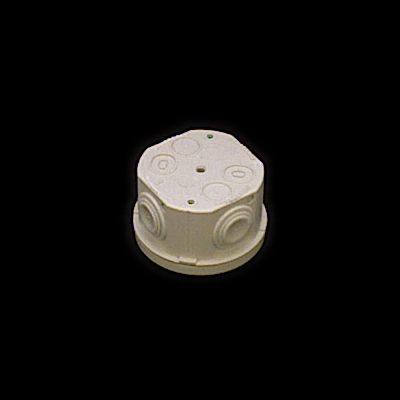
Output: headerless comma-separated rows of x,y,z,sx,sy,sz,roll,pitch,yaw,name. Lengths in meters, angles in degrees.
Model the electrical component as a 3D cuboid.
0.000,0.000,0.633,0.080,0.051,0.080,1,43,0,electrical component
